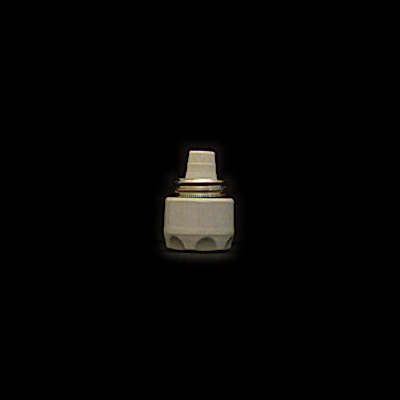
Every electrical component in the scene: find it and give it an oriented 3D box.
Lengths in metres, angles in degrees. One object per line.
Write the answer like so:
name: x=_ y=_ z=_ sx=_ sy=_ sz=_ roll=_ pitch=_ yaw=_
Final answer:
electrical component: x=0.000 y=0.000 z=0.655 sx=0.043 sy=0.062 sz=0.043 roll=2 pitch=3 yaw=0
